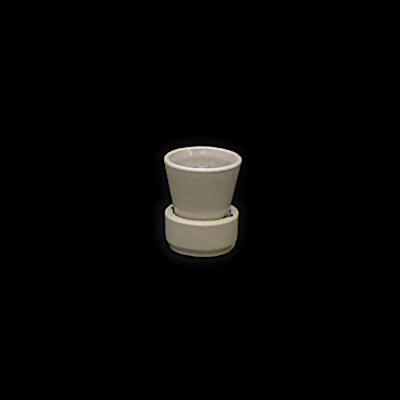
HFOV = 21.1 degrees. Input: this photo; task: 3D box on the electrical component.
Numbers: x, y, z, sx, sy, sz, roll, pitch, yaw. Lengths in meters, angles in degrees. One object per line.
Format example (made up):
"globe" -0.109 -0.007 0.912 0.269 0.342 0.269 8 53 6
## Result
"electrical component" 0.000 0.000 0.641 0.045 0.056 0.044 2 21 0
